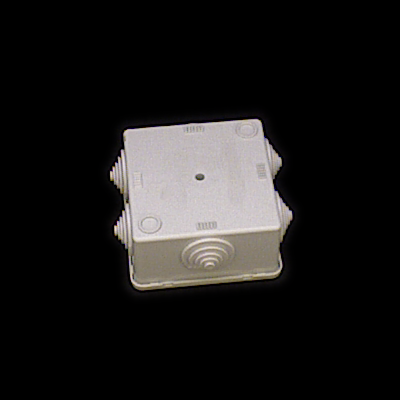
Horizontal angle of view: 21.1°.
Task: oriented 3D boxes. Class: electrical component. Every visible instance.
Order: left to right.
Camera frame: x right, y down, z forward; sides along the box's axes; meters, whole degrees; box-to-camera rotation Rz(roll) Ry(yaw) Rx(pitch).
[{"bbox_3d":[0.000,0.000,0.633,0.100,0.099,0.049,-5,-37,-4],"label":"electrical component"}]
